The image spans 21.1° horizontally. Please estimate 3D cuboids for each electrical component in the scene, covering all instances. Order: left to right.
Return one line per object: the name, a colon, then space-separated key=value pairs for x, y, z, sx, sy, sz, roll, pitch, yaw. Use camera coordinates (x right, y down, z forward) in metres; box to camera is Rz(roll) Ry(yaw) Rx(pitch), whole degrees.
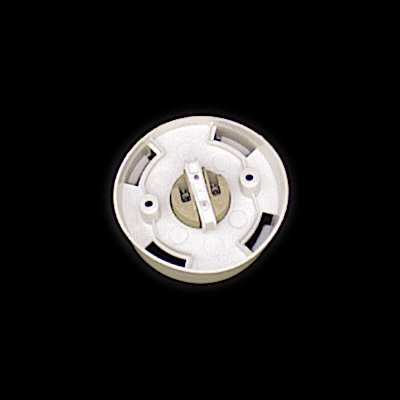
electrical component: x=0.000 y=0.000 z=0.623 sx=0.099 sy=0.099 sz=0.064 roll=0 pitch=-16 yaw=-1
